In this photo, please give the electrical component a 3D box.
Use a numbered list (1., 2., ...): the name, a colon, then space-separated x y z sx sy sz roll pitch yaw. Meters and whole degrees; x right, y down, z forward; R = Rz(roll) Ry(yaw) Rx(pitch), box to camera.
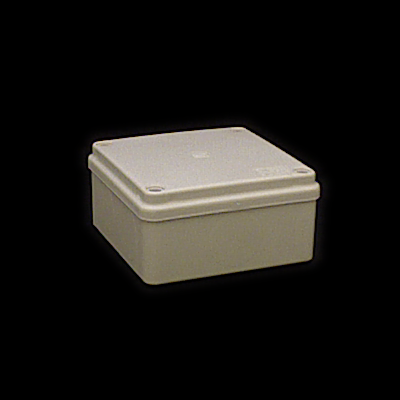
1. electrical component: 0.000 0.000 0.640 0.109 0.057 0.107 -8 22 -22
